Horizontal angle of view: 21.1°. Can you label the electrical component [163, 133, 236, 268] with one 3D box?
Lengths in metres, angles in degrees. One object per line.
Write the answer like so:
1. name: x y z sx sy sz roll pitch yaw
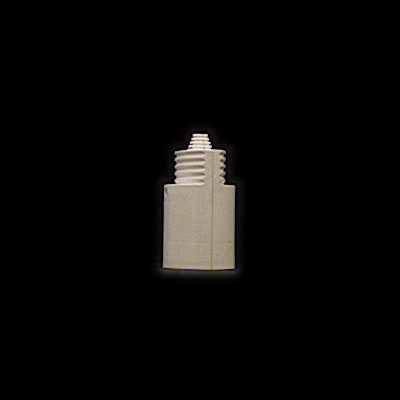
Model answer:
1. electrical component: 0.000 0.000 0.650 0.043 0.081 0.043 1 1 0
